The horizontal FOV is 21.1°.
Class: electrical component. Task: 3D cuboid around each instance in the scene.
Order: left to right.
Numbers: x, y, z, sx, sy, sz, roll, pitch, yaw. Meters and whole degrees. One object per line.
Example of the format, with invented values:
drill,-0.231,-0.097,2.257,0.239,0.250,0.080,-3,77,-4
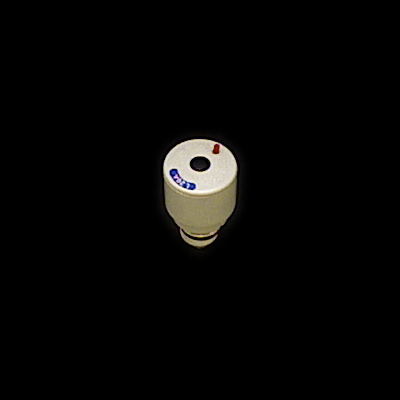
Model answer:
electrical component,0.000,0.000,0.621,0.040,0.040,0.079,0,-38,-1
